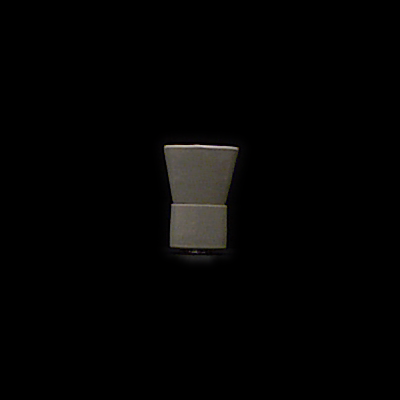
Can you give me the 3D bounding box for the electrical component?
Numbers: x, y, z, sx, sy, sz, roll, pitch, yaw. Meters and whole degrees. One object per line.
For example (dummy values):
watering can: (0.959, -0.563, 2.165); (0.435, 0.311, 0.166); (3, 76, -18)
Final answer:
electrical component: (0.000, 0.000, 0.648); (0.044, 0.065, 0.044); (2, 2, 0)
